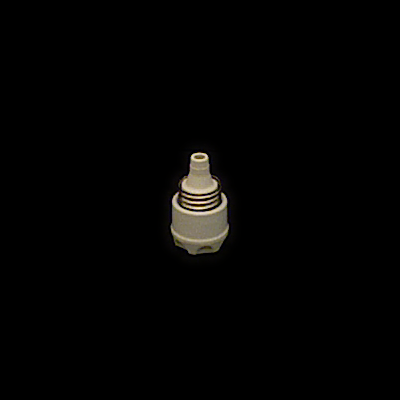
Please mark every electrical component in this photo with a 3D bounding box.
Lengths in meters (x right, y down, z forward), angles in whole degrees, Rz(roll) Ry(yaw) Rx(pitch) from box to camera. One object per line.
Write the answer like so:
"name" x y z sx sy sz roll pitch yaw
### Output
"electrical component" 0.000 0.000 0.645 0.035 0.062 0.034 0 31 0
